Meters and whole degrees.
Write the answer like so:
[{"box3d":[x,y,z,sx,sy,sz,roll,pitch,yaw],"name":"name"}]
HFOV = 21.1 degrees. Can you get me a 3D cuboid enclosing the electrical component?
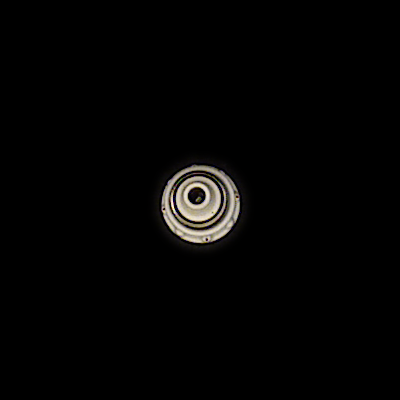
[{"box3d":[0.000,0.000,0.635,0.048,0.048,0.062,0,-6,1],"name":"electrical component"}]
